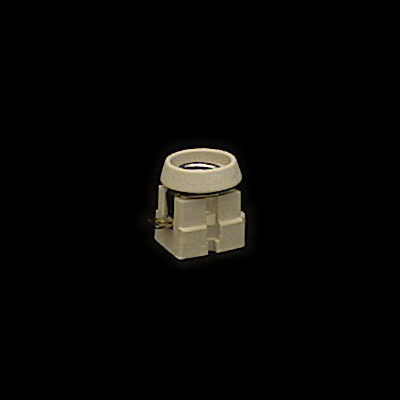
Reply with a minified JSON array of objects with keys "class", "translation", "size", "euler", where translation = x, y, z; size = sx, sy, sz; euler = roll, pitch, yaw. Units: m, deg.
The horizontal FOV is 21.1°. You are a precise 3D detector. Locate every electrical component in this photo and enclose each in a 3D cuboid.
[{"class":"electrical component","translation":[0.000,0.000,0.645],"size":[0.067,0.056,0.047],"euler":[-11,23,-28]}]
